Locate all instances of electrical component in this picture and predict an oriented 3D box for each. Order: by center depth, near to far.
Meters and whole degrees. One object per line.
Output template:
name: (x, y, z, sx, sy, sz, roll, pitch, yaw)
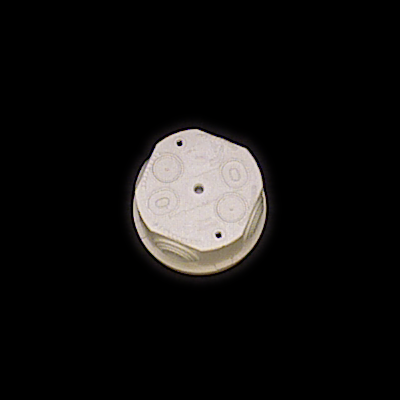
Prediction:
electrical component: (0.000, 0.000, 0.632, 0.080, 0.080, 0.050, 0, -18, 0)
